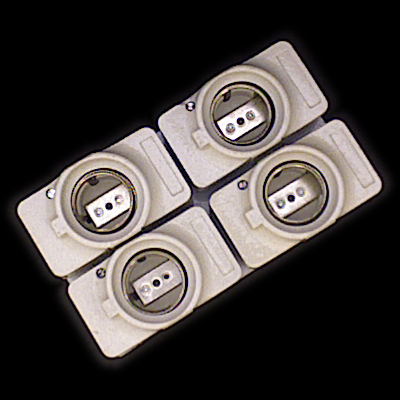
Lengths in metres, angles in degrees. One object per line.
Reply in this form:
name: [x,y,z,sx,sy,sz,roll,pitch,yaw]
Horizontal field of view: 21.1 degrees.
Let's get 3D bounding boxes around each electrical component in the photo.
electrical component: [0.000,0.000,0.626,0.186,0.106,0.060,-32,-6,-4]
